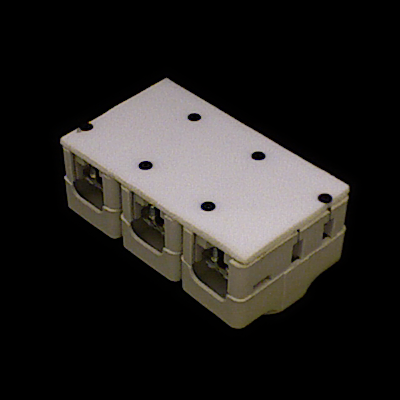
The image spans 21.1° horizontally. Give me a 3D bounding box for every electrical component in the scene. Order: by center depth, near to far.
[{"bbox_3d":[0.000,0.000,0.636,0.148,0.063,0.088,34,52,31],"label":"electrical component"}]
